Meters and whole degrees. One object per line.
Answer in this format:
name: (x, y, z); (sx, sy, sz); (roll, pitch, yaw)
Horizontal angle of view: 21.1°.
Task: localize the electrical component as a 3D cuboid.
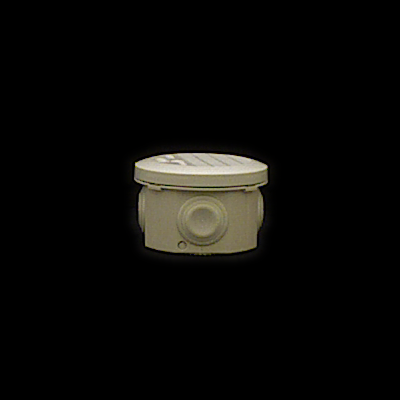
electrical component: (0.000, 0.000, 0.647); (0.080, 0.051, 0.079); (1, 10, 0)
